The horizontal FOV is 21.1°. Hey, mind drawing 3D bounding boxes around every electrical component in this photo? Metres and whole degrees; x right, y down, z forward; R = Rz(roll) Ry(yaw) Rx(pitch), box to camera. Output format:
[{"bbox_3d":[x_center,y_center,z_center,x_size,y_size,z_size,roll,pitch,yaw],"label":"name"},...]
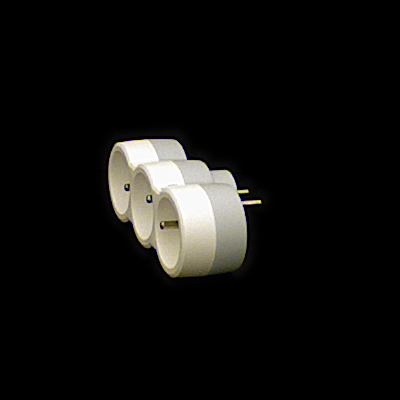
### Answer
[{"bbox_3d":[0.000,0.000,0.647,0.074,0.053,0.136,-6,23,-22],"label":"electrical component"}]
